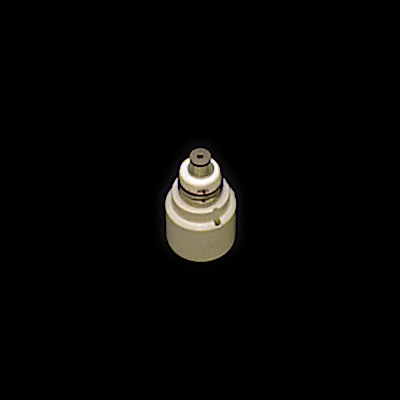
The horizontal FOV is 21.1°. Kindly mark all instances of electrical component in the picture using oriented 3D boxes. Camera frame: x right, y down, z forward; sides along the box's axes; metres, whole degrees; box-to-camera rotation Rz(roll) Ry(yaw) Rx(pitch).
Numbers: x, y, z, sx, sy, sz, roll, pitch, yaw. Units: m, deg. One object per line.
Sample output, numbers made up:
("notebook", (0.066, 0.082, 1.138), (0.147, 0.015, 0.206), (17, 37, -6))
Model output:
("electrical component", (0.000, 0.000, 0.620), (0.040, 0.040, 0.079), (0, -38, 1))
